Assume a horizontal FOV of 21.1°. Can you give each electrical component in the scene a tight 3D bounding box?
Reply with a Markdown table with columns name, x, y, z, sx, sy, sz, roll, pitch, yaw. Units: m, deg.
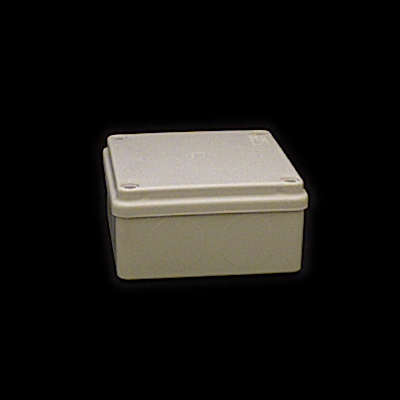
| name | x | y | z | sx | sy | sz | roll | pitch | yaw |
| --- | --- | --- | --- | --- | --- | --- | --- | --- | --- |
| electrical component | 0.000 | 0.000 | 0.638 | 0.109 | 0.057 | 0.107 | -2 | 21 | -8 |
